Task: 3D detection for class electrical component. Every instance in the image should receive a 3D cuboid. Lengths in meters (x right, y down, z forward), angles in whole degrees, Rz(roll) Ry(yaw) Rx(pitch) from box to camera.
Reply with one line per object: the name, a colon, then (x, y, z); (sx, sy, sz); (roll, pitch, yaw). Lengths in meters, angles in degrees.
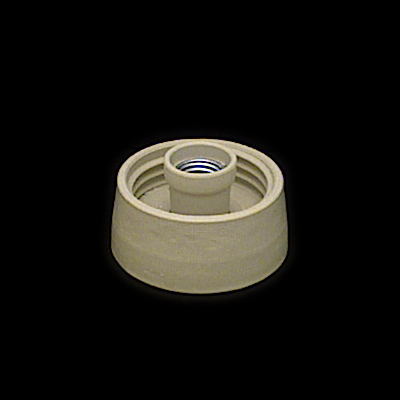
electrical component: (0.000, 0.000, 0.642); (0.108, 0.061, 0.106); (1, 32, 0)
